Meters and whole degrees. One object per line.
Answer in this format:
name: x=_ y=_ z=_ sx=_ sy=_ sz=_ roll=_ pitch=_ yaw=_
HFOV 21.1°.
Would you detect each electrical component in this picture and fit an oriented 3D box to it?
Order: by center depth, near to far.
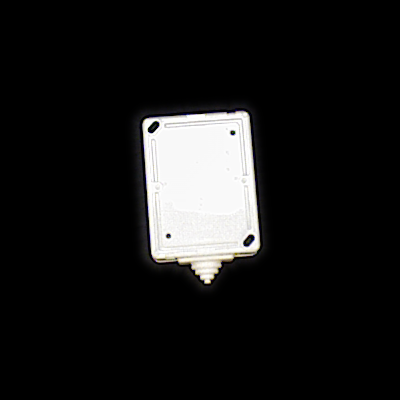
electrical component: x=0.000 y=0.000 z=0.625 sx=0.062 sy=0.097 sz=0.060 roll=-4 pitch=-7 yaw=-1
